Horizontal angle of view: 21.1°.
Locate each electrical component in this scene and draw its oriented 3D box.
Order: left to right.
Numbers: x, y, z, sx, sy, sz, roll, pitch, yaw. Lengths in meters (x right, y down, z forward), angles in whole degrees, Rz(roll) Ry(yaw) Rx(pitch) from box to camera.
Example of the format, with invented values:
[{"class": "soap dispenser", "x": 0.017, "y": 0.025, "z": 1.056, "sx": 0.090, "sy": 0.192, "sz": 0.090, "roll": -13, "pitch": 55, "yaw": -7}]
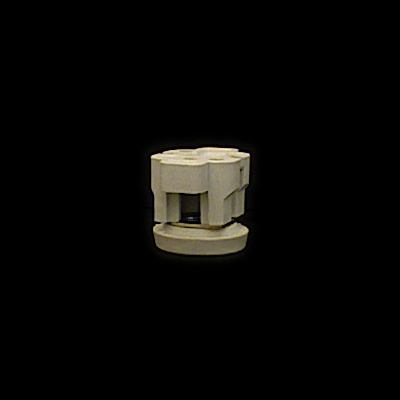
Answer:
[{"class": "electrical component", "x": 0.000, "y": 0.000, "z": 0.653, "sx": 0.057, "sy": 0.057, "sz": 0.078, "roll": 4, "pitch": 10, "yaw": 17}]
